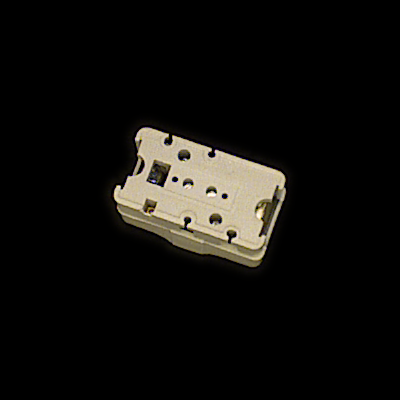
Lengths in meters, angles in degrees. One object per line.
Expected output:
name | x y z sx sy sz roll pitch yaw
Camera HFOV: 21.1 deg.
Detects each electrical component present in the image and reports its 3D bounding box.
electrical component | 0.000 0.000 0.636 0.089 0.050 0.055 19 -14 6
